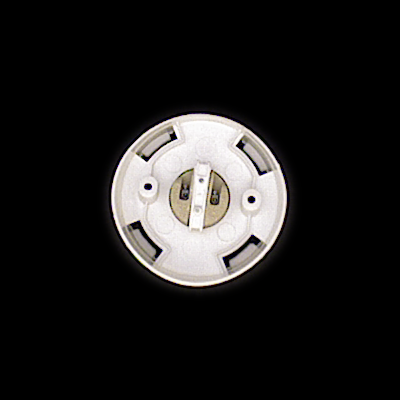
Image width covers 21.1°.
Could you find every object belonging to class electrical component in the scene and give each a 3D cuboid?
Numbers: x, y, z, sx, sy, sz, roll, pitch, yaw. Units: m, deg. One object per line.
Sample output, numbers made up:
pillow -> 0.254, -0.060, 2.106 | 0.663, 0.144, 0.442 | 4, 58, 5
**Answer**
electrical component -> 0.000, 0.000, 0.624 | 0.099, 0.099, 0.064 | 0, -6, 0
